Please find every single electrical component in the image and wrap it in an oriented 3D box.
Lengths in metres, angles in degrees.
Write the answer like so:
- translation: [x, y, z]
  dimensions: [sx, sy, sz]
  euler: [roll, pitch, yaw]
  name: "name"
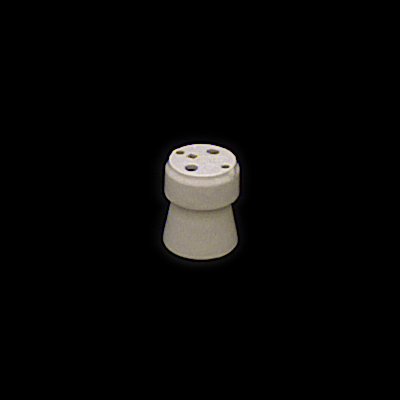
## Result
- translation: [0.000, 0.000, 0.637]
  dimensions: [0.045, 0.056, 0.044]
  euler: [1, 32, -1]
  name: "electrical component"
